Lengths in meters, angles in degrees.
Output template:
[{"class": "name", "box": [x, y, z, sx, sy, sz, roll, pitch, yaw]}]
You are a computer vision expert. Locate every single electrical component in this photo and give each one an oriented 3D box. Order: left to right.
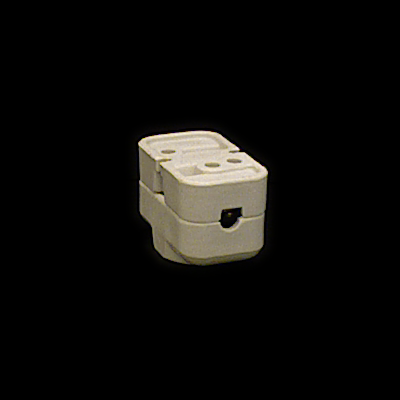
[{"class": "electrical component", "box": [0.000, 0.000, 0.648, 0.054, 0.060, 0.093, -8, 23, -21]}]
